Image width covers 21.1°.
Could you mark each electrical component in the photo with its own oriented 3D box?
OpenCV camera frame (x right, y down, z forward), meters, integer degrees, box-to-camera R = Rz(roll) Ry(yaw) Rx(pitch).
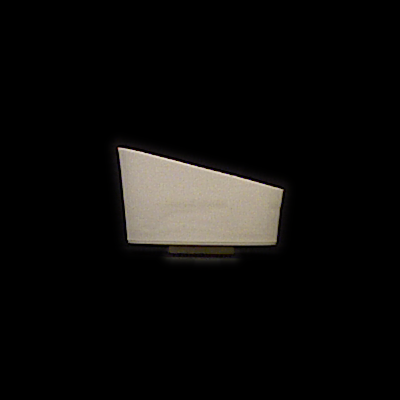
[{"bbox_3d":[0.000,0.000,0.649,0.099,0.064,0.099,0,0,0],"label":"electrical component"}]
